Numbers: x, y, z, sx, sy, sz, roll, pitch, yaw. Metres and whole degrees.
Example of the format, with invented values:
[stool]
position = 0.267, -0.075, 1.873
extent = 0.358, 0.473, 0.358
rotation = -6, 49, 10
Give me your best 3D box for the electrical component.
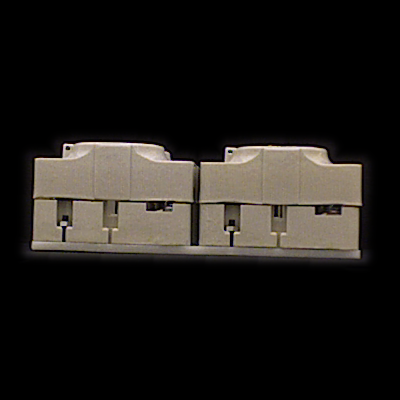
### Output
[electrical component]
position = 0.000, 0.000, 0.649
extent = 0.186, 0.060, 0.105
rotation = 1, 0, 2
